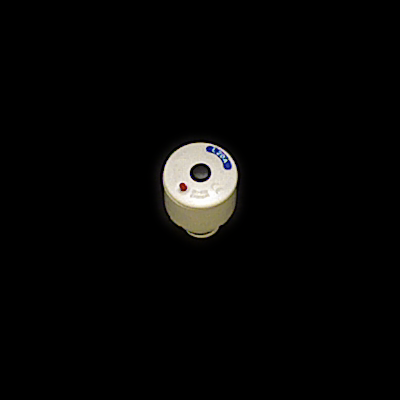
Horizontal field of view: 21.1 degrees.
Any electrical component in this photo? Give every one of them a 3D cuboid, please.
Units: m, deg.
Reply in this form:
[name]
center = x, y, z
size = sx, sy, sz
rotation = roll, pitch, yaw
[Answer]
[electrical component]
center = 0.000, 0.000, 0.617
size = 0.040, 0.040, 0.078
rotation = 0, -27, 1
